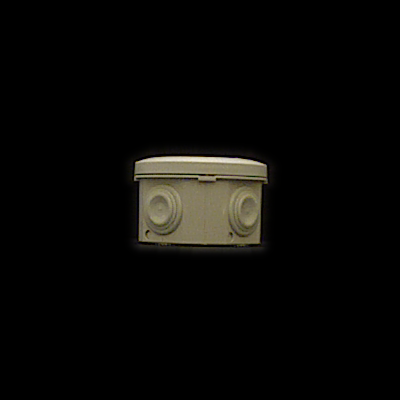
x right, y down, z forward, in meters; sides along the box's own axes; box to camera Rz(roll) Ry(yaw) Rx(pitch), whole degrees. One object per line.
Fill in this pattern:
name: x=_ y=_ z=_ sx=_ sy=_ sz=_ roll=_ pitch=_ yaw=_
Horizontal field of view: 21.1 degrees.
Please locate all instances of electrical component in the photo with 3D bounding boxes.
electrical component: x=0.000 y=0.000 z=0.647 sx=0.080 sy=0.051 sz=0.080 roll=1 pitch=0 yaw=0
